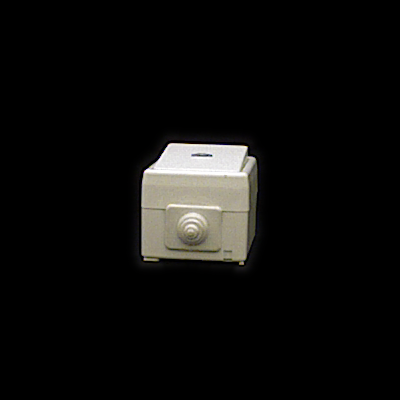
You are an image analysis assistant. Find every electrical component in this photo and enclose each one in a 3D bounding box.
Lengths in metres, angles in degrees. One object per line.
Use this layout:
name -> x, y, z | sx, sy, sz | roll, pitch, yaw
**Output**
electrical component -> 0.000, 0.000, 0.642 | 0.062, 0.061, 0.095 | 2, 10, 6
